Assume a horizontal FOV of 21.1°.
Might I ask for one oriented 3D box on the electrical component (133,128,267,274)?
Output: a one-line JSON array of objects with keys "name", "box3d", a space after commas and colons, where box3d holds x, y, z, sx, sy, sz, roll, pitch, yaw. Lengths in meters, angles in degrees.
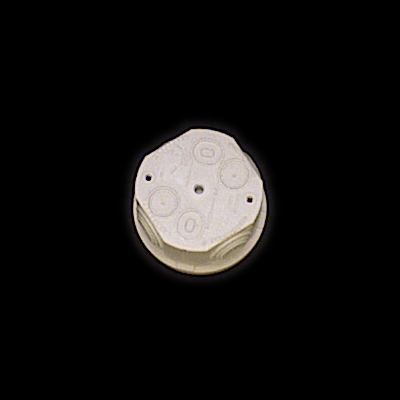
[{"name": "electrical component", "box3d": [0.000, 0.000, 0.632, 0.080, 0.080, 0.050, 0, -17, 1]}]
